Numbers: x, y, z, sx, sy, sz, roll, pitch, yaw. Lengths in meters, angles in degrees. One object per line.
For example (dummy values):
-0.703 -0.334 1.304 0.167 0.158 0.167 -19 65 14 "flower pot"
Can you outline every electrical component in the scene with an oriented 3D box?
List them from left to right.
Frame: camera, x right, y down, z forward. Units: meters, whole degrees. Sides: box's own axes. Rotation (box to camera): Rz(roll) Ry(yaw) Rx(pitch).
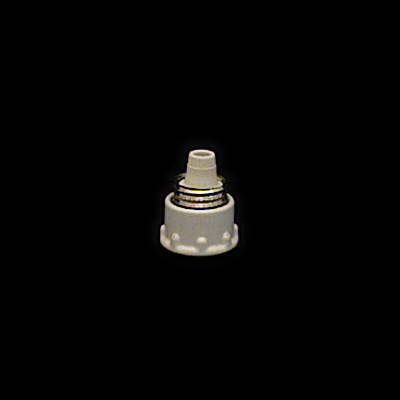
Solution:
0.000 0.000 0.647 0.048 0.063 0.047 2 22 0 "electrical component"
